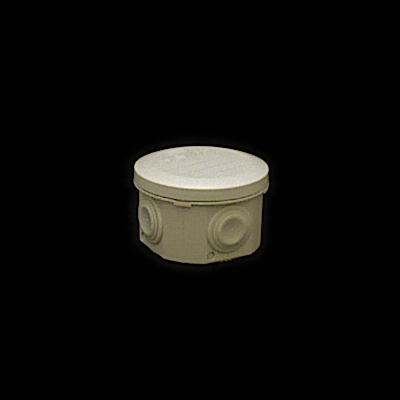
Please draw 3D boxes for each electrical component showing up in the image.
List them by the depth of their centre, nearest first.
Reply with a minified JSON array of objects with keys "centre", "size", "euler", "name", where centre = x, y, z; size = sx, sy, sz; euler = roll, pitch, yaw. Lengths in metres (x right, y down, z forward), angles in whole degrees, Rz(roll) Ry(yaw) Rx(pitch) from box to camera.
[{"centre":[0.000,0.000,0.642],"size":[0.080,0.051,0.079],"euler":[1,21,0],"name":"electrical component"}]
